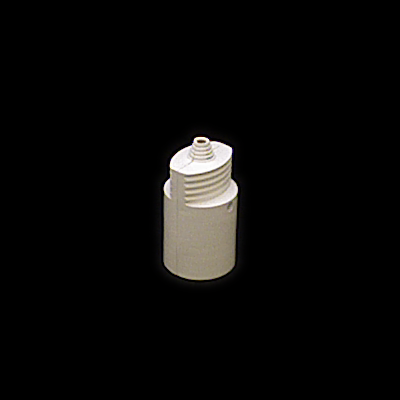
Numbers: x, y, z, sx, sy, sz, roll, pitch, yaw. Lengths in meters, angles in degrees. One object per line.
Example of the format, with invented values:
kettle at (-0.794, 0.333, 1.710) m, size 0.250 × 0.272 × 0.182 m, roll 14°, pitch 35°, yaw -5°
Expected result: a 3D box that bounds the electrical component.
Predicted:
electrical component at (0.000, 0.000, 0.628) m, size 0.043 × 0.082 × 0.042 m, roll 1°, pitch 31°, yaw 0°
